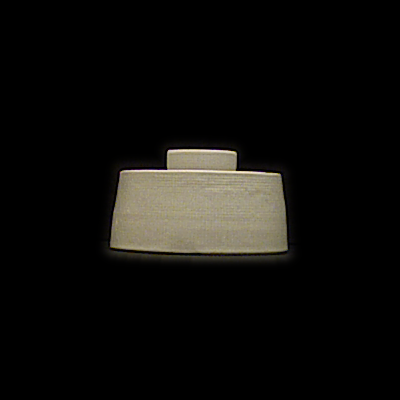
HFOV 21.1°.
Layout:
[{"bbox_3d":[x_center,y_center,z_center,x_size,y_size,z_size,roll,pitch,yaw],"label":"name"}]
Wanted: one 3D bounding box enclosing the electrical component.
[{"bbox_3d":[0.000,0.000,0.655,0.108,0.060,0.108,1,1,1],"label":"electrical component"}]
